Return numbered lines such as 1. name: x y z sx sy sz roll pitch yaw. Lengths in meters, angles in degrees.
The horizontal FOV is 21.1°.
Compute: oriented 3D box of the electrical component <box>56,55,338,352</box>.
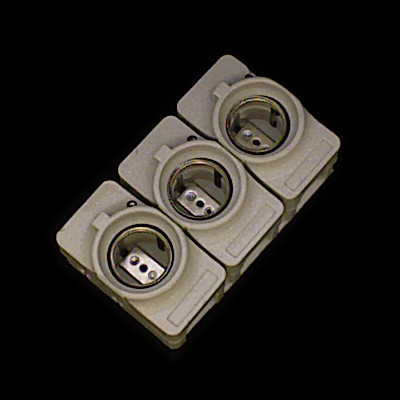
1. electrical component: 0.000 0.000 0.631 0.089 0.150 0.062 39 -13 12
